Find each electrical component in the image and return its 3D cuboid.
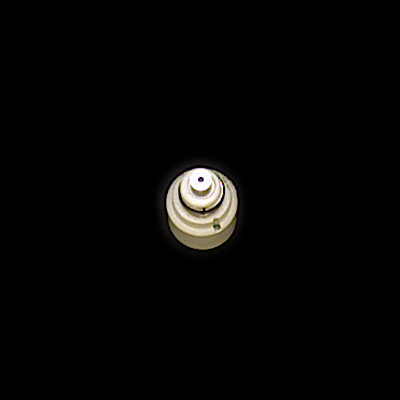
[{"bbox_3d":[0.000,0.000,0.617,0.040,0.040,0.078,0,-17,1],"label":"electrical component"}]
